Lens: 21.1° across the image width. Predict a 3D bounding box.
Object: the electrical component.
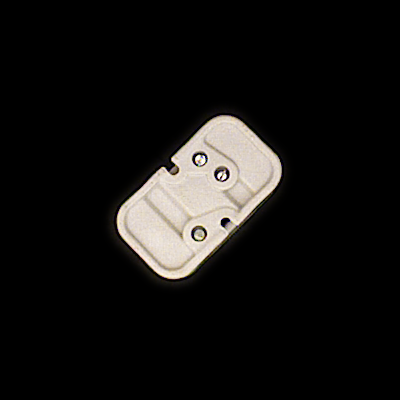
[{"bbox_3d":[0.000,0.000,0.636,0.095,0.053,0.059,-45,-5,-3],"label":"electrical component"}]
